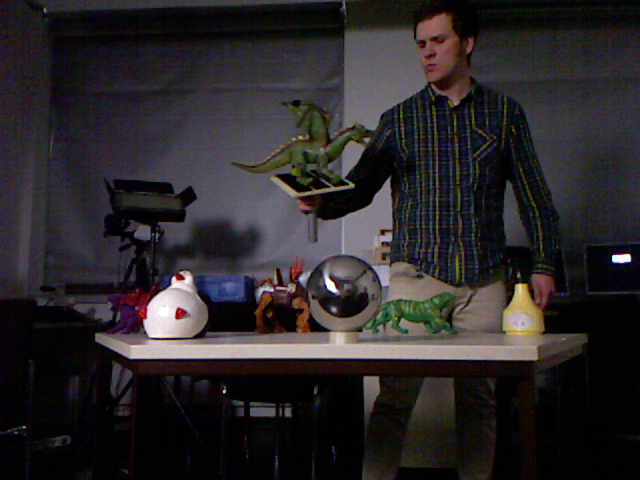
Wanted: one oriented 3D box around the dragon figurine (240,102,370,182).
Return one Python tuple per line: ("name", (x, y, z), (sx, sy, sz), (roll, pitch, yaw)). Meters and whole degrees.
("dragon figurine", (-0.055, -0.300, 1.558), (0.410, 0.238, 0.125), (4, 27, 9))
